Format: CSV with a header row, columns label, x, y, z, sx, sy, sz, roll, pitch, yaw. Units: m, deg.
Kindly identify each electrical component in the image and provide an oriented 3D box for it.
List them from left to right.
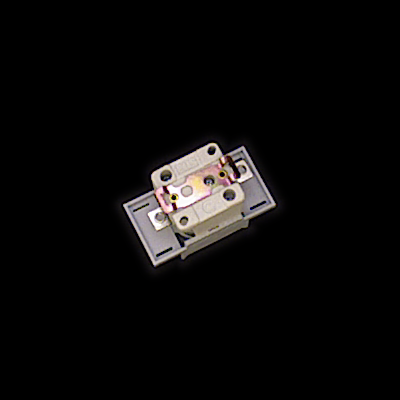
label,x,y,z,sx,sy,sz,roll,pitch,yaw
electrical component,0.000,0.000,0.625,0.081,0.042,0.063,-27,-15,-8
